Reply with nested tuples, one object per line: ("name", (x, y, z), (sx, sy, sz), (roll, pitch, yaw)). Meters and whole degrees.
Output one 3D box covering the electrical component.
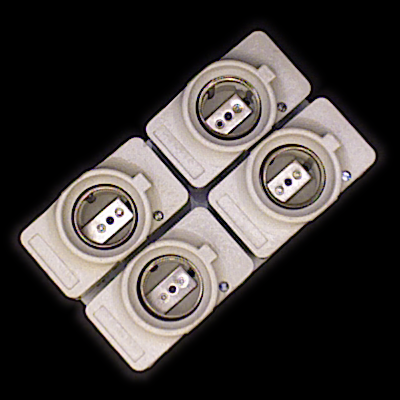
("electrical component", (0.000, 0.000, 0.626), (0.187, 0.105, 0.060), (-42, -5, -5))
